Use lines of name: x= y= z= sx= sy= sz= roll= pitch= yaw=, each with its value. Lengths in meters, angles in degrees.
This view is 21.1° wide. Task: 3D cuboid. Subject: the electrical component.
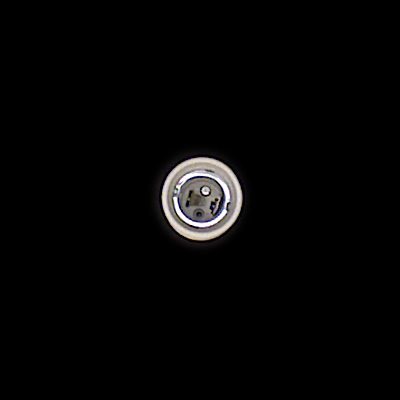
electrical component: x=0.000 y=0.000 z=0.629 sx=0.045 sy=0.045 sz=0.055 roll=0 pitch=-6 yaw=0
